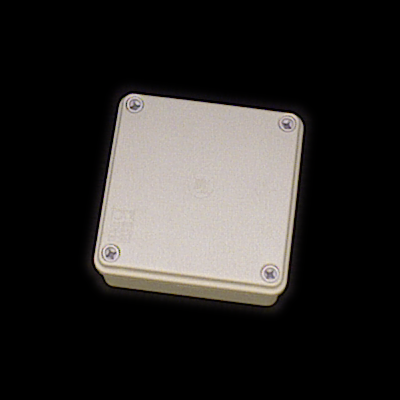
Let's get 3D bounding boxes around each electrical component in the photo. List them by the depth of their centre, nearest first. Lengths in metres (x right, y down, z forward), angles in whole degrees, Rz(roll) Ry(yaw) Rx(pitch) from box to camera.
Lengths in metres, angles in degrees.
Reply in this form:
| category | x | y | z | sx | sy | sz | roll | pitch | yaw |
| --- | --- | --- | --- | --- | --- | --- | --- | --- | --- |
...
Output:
| category | x | y | z | sx | sy | sz | roll | pitch | yaw |
| --- | --- | --- | --- | --- | --- | --- | --- | --- | --- |
| electrical component | 0.000 | 0.000 | 0.630 | 0.109 | 0.109 | 0.056 | 7 | -17 | 1 |
